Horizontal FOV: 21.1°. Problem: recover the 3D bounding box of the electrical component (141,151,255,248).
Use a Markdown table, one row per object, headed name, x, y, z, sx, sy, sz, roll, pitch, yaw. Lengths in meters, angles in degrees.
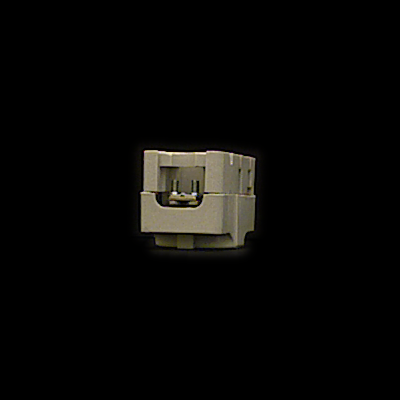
| name | x | y | z | sx | sy | sz | roll | pitch | yaw |
| --- | --- | --- | --- | --- | --- | --- | --- | --- | --- |
| electrical component | 0.000 | 0.000 | 0.657 | 0.050 | 0.056 | 0.090 | 2 | 2 | 15 |
